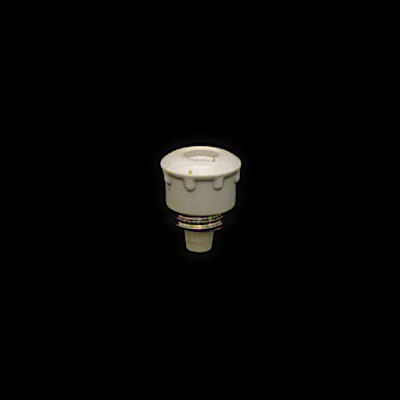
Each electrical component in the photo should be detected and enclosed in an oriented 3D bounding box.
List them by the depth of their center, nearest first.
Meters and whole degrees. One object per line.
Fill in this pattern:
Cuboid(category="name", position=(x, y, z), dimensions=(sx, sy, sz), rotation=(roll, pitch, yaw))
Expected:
Cuboid(category="electrical component", position=(0.000, 0.000, 0.647), dimensions=(0.048, 0.063, 0.047), rotation=(1, 22, 0))
